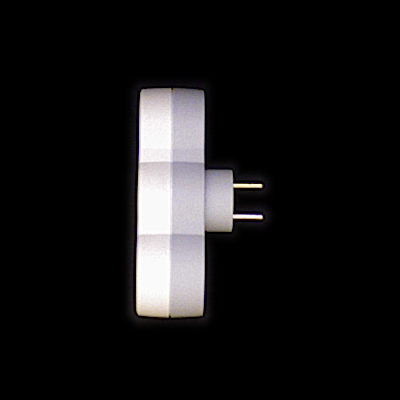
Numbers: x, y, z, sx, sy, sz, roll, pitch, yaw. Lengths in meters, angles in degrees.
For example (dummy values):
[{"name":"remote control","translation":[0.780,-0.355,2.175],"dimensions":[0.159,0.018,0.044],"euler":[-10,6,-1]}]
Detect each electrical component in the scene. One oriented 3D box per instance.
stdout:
[{"name":"electrical component","translation":[0.000,0.000,0.631],"dimensions":[0.074,0.138,0.052],"euler":[0,-18,-2]}]
